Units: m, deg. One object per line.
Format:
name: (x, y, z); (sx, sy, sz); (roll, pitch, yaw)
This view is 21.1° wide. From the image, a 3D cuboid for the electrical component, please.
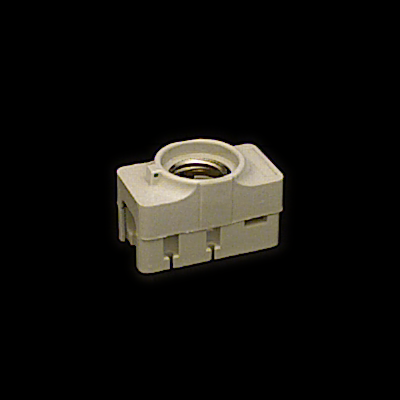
electrical component: (0.000, 0.000, 0.643); (0.090, 0.056, 0.049); (-12, 34, -20)
